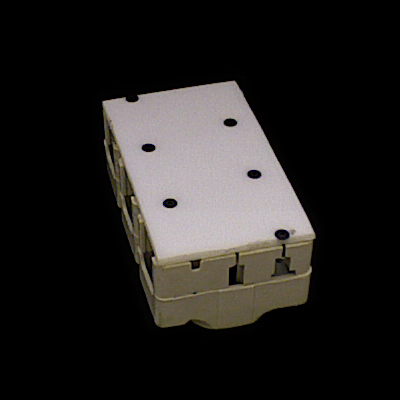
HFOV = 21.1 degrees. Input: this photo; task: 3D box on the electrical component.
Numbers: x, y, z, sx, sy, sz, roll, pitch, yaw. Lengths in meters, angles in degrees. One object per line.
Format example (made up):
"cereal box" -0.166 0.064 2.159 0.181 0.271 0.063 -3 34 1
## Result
"electrical component" 0.000 0.000 0.638 0.090 0.063 0.147 -9 42 -11
